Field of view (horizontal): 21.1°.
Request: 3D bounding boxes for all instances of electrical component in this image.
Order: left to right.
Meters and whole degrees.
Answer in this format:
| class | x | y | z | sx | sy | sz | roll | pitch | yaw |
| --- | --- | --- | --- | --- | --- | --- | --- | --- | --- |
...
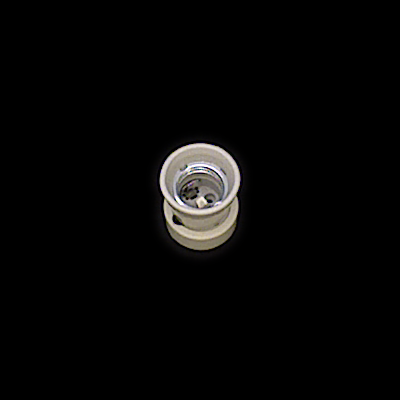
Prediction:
| class | x | y | z | sx | sy | sz | roll | pitch | yaw |
| --- | --- | --- | --- | --- | --- | --- | --- | --- | --- |
| electrical component | 0.000 | 0.000 | 0.628 | 0.045 | 0.045 | 0.055 | 0 | -28 | 0 |
